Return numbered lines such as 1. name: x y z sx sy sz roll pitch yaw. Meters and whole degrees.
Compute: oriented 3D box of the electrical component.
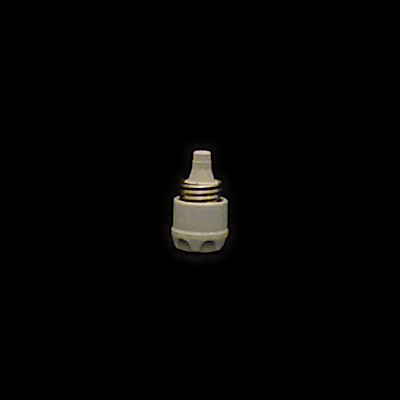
1. electrical component: 0.000 0.000 0.659 0.035 0.062 0.035 2 14 0
